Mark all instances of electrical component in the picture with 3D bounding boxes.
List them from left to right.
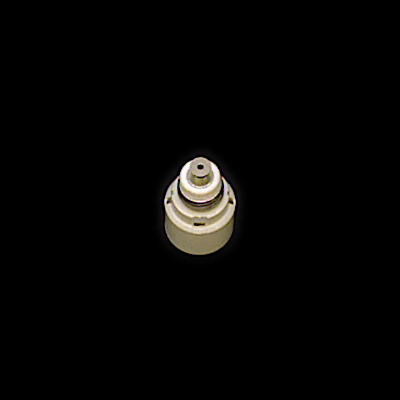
[{"bbox_3d":[0.000,0.000,0.618,0.040,0.040,0.078,0,-28,-1],"label":"electrical component"}]
